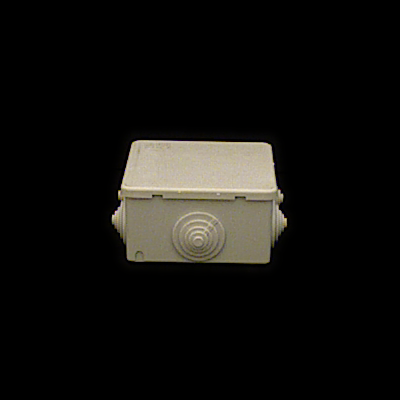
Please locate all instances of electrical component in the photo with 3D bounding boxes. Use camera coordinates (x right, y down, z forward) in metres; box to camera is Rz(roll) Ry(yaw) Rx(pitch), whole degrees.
[{"bbox_3d":[0.000,0.000,0.648,0.100,0.049,0.098,1,22,0],"label":"electrical component"}]
